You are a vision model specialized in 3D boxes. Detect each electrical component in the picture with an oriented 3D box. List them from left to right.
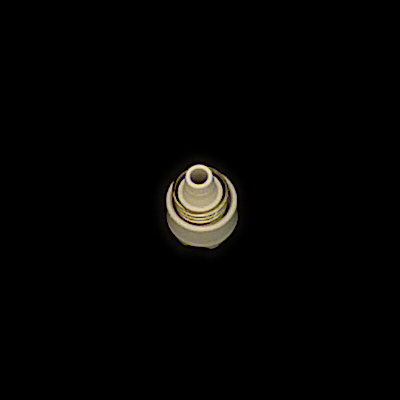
[{"bbox_3d":[0.000,0.000,0.634,0.043,0.043,0.062,0,-27,2],"label":"electrical component"}]
